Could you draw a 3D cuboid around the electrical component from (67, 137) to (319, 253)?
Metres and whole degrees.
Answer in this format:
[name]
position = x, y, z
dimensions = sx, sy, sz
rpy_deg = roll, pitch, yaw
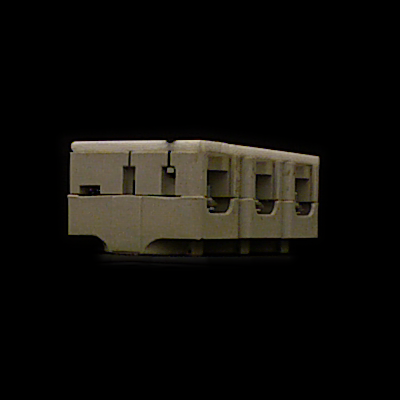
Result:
[electrical component]
position = 0.000, 0.000, 0.653
dimensions = 0.089, 0.062, 0.150
rpy_deg = 1, -1, 32
